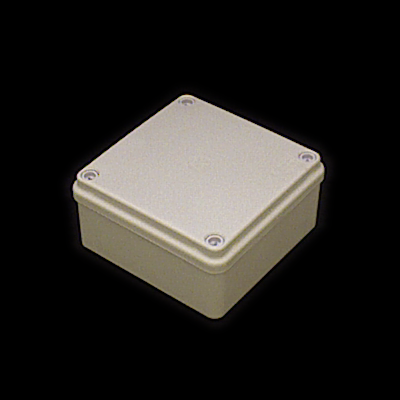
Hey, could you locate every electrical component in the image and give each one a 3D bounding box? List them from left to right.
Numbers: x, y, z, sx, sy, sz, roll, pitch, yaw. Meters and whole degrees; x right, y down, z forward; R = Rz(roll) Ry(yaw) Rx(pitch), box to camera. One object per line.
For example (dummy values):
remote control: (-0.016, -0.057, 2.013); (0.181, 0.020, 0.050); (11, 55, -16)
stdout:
electrical component: (0.000, 0.000, 0.632); (0.108, 0.056, 0.108); (27, 48, 27)
